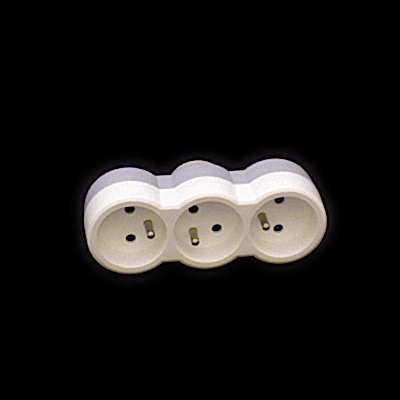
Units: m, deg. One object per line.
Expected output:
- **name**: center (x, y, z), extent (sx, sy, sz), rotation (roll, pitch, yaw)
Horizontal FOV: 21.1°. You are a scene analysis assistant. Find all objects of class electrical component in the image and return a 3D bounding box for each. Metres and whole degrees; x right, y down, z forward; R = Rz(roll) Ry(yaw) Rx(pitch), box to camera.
- **electrical component**: center (0.000, 0.000, 0.636), extent (0.138, 0.053, 0.073), rotation (-4, 30, -7)
